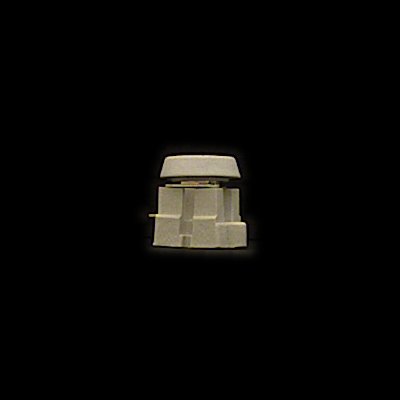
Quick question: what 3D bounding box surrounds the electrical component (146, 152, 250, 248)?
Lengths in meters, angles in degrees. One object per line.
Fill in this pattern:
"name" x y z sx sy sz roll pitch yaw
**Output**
"electrical component" 0.000 0.000 0.656 0.066 0.055 0.049 2 0 25
